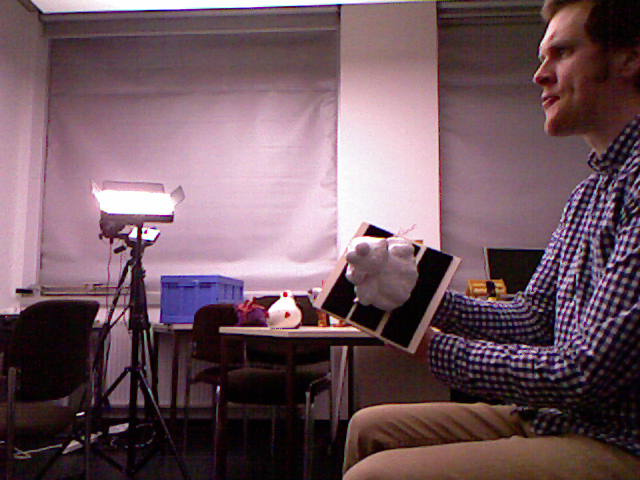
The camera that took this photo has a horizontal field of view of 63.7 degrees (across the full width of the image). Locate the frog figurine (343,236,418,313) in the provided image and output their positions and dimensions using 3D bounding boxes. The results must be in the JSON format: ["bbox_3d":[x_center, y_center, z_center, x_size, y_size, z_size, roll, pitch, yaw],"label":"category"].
[{"bbox_3d":[0.105,0.047,0.872,0.139,0.124,0.157,-40,-26,-12],"label":"frog figurine"}]
